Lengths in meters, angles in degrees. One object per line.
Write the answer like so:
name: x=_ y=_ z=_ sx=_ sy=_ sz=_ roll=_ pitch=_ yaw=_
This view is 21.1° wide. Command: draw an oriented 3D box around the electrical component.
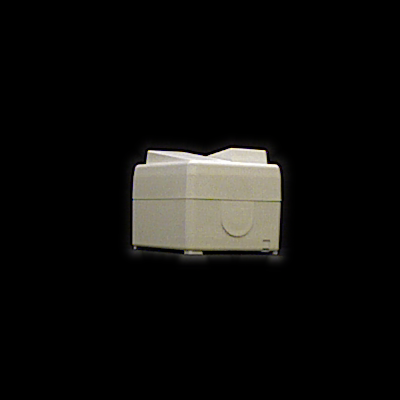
electrical component: x=0.000 y=0.000 z=0.652 sx=0.062 sy=0.061 sz=0.096 roll=1 pitch=0 yaw=-28
